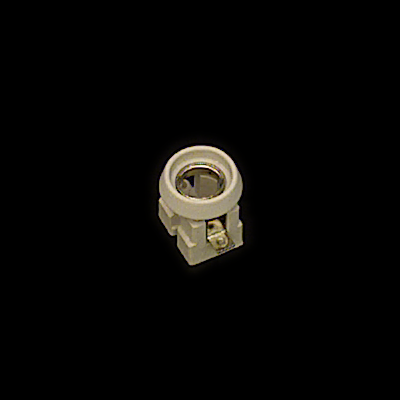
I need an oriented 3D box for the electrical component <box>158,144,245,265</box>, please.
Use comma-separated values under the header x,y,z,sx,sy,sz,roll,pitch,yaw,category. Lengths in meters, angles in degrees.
x,y,z,sx,sy,sz,roll,pitch,yaw,category
0.000,0.000,0.638,0.048,0.066,0.056,-25,-33,-16,electrical component
